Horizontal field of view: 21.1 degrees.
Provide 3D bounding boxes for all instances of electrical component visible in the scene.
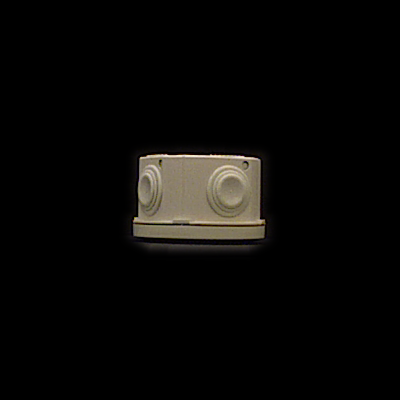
[{"bbox_3d":[0.000,0.000,0.650,0.080,0.051,0.080,1,0,0],"label":"electrical component"}]
